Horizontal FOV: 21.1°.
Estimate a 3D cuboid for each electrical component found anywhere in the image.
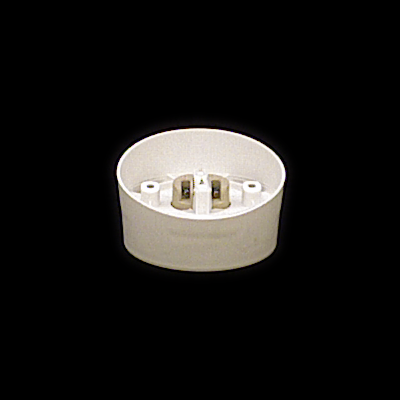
[{"bbox_3d":[0.000,0.000,0.638,0.099,0.065,0.097,1,20,0],"label":"electrical component"}]
